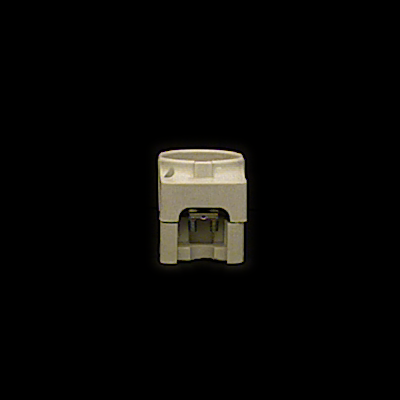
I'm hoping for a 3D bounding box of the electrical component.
[{"bbox_3d":[0.000,0.000,0.651,0.050,0.056,0.089,0,11,-3],"label":"electrical component"}]
